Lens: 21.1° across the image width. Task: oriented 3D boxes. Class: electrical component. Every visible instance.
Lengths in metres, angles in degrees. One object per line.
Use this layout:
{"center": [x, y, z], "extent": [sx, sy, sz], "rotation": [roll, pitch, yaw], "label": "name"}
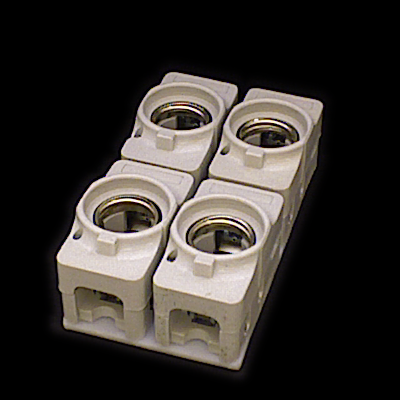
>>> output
{"center": [0.000, 0.000, 0.629], "extent": [0.105, 0.061, 0.185], "rotation": [13, 44, 13], "label": "electrical component"}
